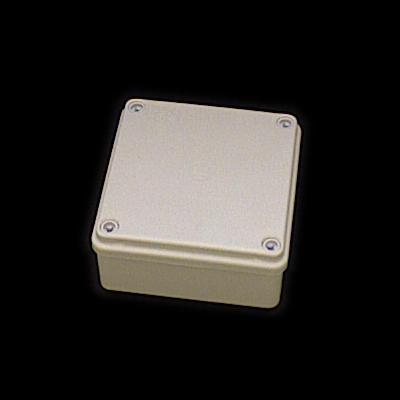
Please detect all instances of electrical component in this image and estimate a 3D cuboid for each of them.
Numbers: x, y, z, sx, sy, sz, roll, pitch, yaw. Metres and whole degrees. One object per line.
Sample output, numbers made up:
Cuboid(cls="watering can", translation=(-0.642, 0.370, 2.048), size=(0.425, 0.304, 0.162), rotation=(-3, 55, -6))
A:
Cuboid(cls="electrical component", translation=(0.000, 0.000, 0.629), size=(0.109, 0.108, 0.056), rotation=(6, -37, 4))
